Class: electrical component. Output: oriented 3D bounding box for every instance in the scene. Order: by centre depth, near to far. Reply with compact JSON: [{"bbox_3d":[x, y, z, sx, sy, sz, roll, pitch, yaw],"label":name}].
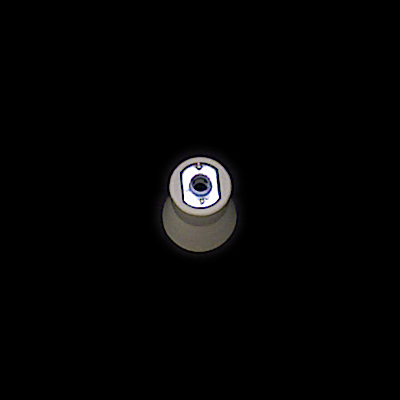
[{"bbox_3d":[0.000,0.000,0.624,0.044,0.044,0.065,0,-17,-1],"label":"electrical component"}]
